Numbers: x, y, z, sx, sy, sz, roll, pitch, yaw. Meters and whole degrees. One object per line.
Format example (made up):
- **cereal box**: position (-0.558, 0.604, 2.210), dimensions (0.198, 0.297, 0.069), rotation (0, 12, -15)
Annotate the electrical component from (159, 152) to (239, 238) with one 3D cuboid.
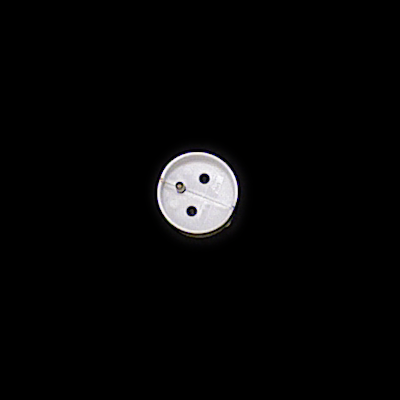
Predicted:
- **electrical component**: position (0.000, 0.000, 0.615), dimensions (0.043, 0.043, 0.080), rotation (0, -7, 1)
